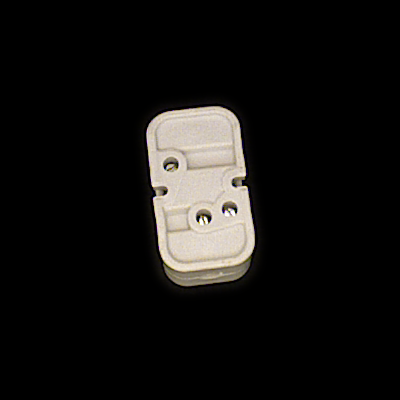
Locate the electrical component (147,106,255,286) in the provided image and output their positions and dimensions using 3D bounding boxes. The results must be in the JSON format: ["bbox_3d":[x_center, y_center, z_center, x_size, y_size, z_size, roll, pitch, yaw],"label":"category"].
[{"bbox_3d":[0.000,0.000,0.636,0.054,0.095,0.059,-7,-16,-2],"label":"electrical component"}]
